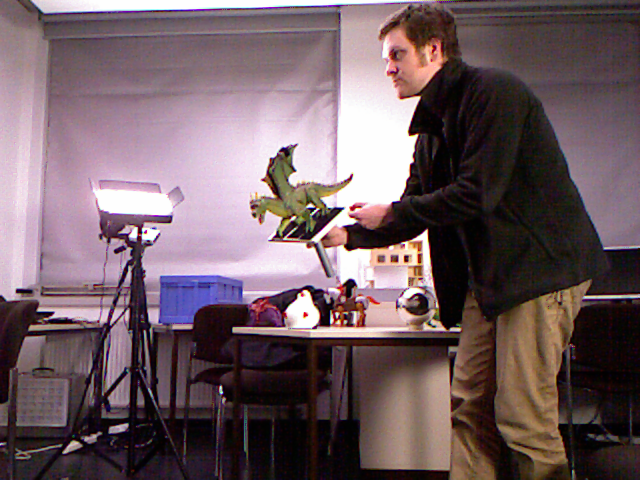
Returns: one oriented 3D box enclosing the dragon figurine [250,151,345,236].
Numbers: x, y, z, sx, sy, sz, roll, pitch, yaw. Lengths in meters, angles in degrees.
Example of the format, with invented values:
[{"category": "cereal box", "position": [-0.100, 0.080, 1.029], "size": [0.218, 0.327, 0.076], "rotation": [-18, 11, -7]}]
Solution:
[{"category": "dragon figurine", "position": [-0.073, -0.162, 1.587], "size": [0.122, 0.238, 0.418], "rotation": [5, 40, 39]}]
